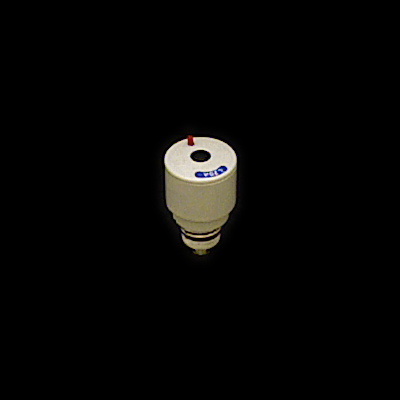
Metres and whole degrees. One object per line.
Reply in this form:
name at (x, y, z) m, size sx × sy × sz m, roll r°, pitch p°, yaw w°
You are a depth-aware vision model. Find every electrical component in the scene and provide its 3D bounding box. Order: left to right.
electrical component at (0.000, 0.000, 0.626) m, size 0.040 × 0.079 × 0.039 m, roll 0°, pitch 41°, yaw 0°
